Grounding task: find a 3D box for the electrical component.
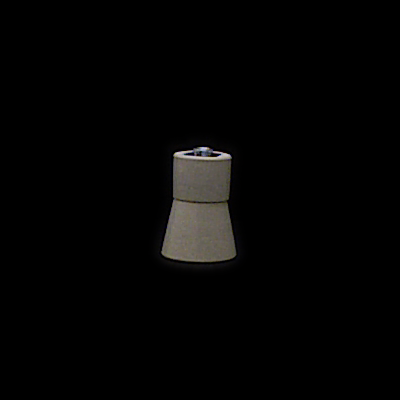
[{"bbox_3d":[0.000,0.000,0.643,0.044,0.066,0.044,2,11,0],"label":"electrical component"}]
